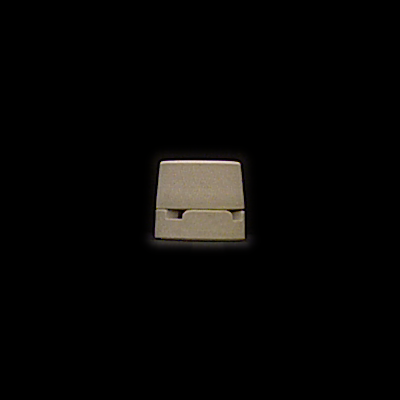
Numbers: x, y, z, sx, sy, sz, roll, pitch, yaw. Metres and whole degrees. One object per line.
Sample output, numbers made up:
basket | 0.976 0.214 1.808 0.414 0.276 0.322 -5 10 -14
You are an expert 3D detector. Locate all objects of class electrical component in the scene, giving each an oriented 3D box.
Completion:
electrical component | 0.000 0.000 0.650 0.055 0.047 0.055 0 0 0
